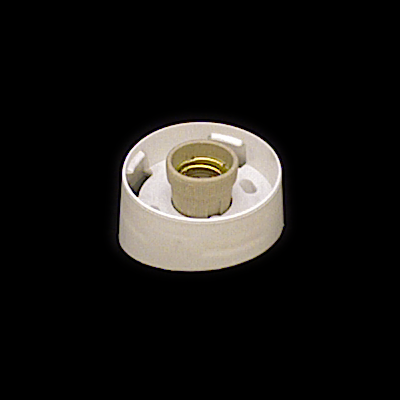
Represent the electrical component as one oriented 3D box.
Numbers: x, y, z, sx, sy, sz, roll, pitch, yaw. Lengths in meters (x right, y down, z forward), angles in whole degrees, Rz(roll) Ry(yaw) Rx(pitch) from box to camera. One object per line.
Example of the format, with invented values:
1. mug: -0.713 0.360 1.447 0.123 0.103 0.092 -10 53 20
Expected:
1. electrical component: 0.000 0.000 0.629 0.099 0.065 0.098 0 41 0
